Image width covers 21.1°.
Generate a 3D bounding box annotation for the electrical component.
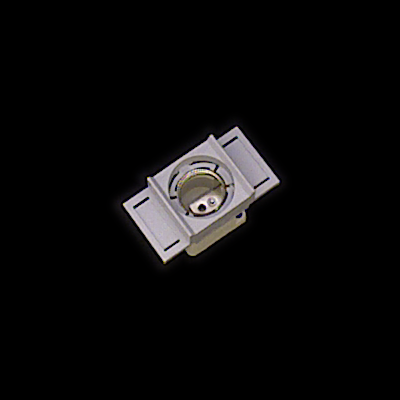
[{"bbox_3d":[0.000,0.000,0.624,0.081,0.042,0.063,-34,-15,-9],"label":"electrical component"}]
